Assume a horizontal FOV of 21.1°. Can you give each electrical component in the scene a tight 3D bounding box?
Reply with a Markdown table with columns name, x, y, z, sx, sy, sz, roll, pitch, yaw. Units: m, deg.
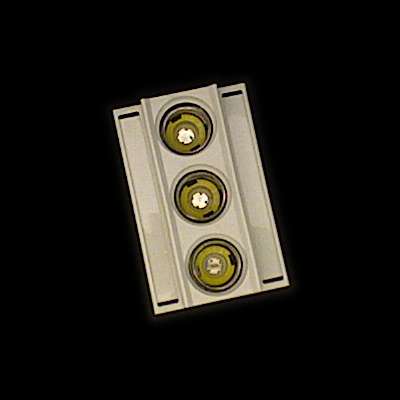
| name | x | y | z | sx | sy | sz | roll | pitch | yaw |
| --- | --- | --- | --- | --- | --- | --- | --- | --- | --- |
| electrical component | 0.000 | 0.000 | 0.637 | 0.079 | 0.121 | 0.063 | -12 | -6 | -2 |
